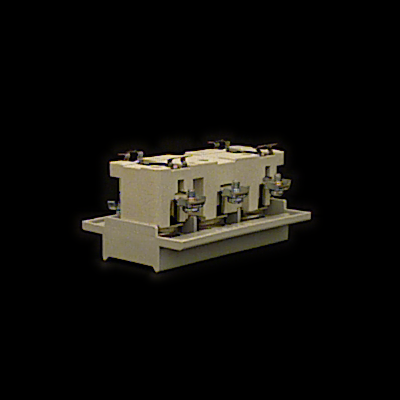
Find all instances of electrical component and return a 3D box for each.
[{"bbox_3d":[0.000,0.000,0.652,0.077,0.063,0.122,10,13,40],"label":"electrical component"}]
